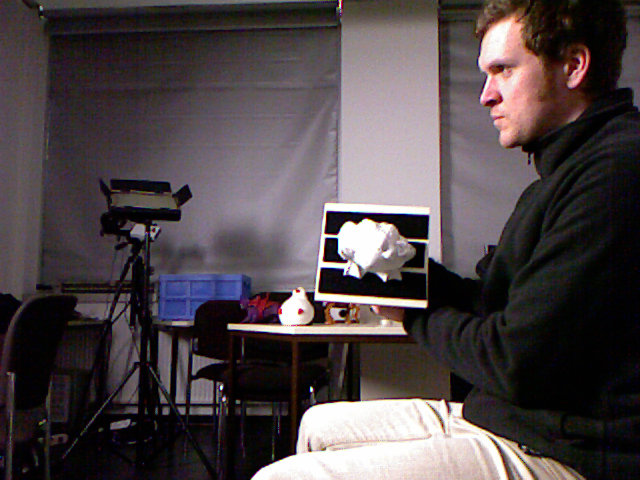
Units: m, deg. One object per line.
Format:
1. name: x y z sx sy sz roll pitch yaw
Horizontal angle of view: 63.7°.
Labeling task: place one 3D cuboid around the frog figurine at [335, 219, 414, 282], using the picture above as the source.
1. frog figurine: 0.093 0.007 0.893 0.138 0.125 0.157 22 -22 12
